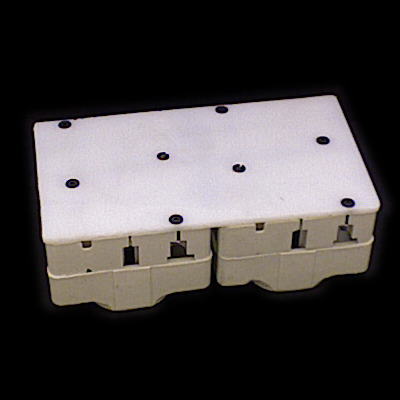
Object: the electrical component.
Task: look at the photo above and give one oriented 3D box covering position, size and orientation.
[{"bbox_3d":[0.000,0.000,0.630,0.186,0.061,0.104,-6,42,-7],"label":"electrical component"}]
